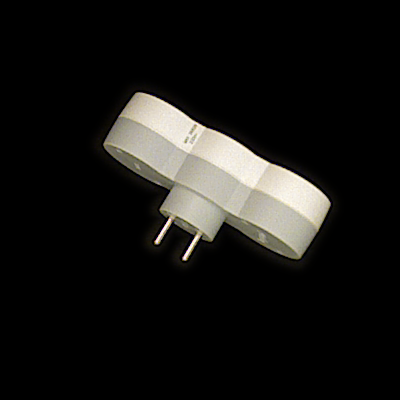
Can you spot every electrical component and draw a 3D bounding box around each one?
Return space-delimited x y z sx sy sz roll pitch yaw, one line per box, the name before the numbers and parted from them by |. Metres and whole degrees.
electrical component | 0.000 0.000 0.637 0.138 0.074 0.052 30 -12 8
